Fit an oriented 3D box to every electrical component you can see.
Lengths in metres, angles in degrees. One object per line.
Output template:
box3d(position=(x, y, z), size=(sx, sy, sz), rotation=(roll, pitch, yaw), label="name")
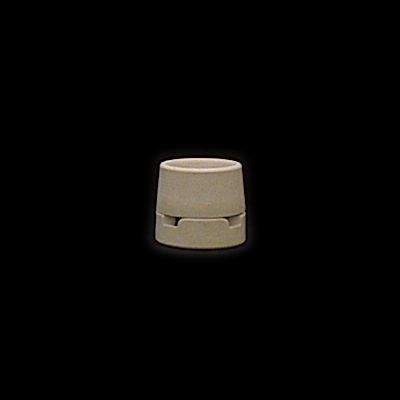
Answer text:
box3d(position=(0.000, 0.000, 0.646), size=(0.055, 0.047, 0.055), rotation=(0, 10, 0), label="electrical component")
